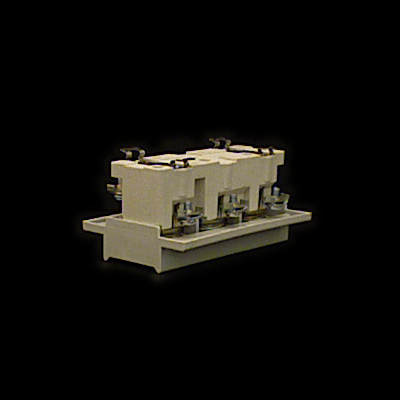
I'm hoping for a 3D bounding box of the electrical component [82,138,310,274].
[{"bbox_3d":[0.000,0.000,0.650,0.078,0.063,0.121,11,15,39],"label":"electrical component"}]
